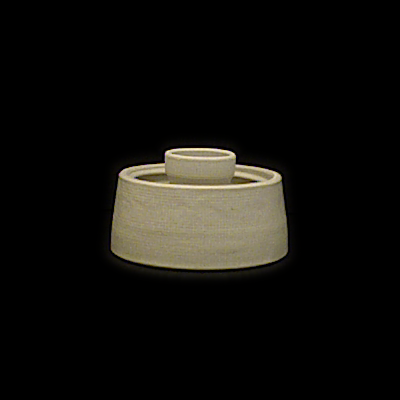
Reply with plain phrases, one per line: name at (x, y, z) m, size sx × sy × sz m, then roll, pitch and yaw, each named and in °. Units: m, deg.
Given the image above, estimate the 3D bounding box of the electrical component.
electrical component at (0.000, 0.000, 0.650) m, size 0.108 × 0.061 × 0.107 m, roll 1°, pitch 11°, yaw 0°
